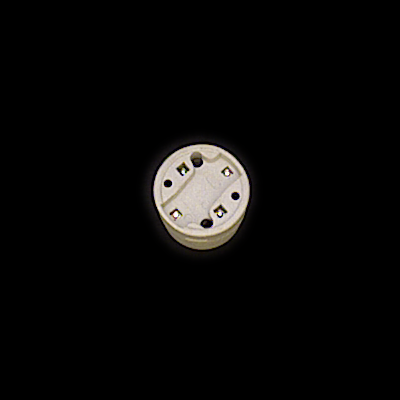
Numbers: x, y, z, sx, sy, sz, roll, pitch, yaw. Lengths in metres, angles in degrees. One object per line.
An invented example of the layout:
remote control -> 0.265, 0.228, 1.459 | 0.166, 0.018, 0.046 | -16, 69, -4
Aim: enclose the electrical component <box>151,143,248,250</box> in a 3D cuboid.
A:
electrical component -> 0.000, 0.000, 0.634 | 0.055, 0.056, 0.047 | 0, -17, 0
